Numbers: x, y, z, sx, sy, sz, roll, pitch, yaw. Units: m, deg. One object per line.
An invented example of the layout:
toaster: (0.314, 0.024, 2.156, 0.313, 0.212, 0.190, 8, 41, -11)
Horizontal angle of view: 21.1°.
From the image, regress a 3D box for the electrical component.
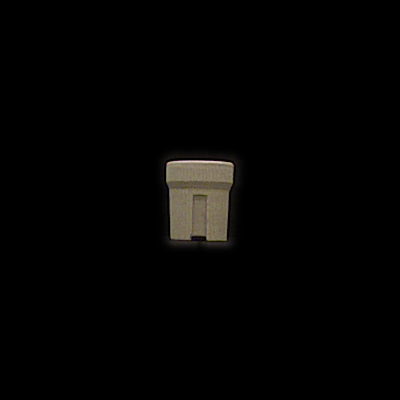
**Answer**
electrical component: (0.000, 0.000, 0.651, 0.040, 0.046, 0.040, 1, 1, 0)
